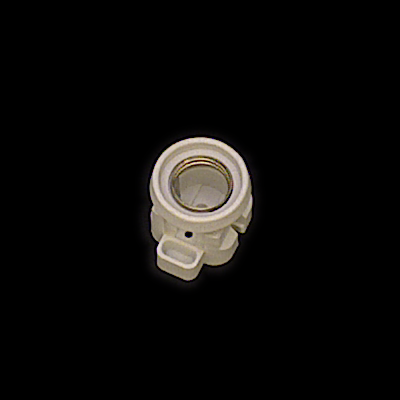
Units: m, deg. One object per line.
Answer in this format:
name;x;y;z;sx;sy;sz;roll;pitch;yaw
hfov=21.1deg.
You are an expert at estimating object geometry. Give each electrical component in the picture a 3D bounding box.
electrical component;0.000;0.000;0.629;0.058;0.078;0.057;23;-25;11
